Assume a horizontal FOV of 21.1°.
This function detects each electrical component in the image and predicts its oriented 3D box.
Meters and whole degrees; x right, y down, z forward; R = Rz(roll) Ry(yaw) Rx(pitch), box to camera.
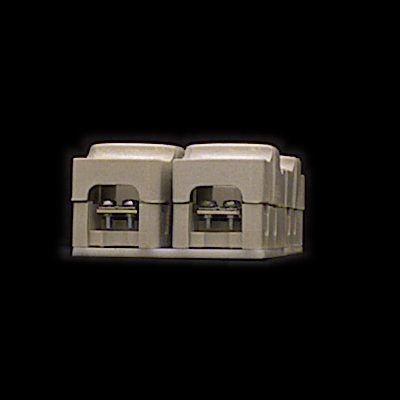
[{"bbox_3d":[0.000,0.000,0.650,0.105,0.060,0.186,1,-1,12],"label":"electrical component"}]
